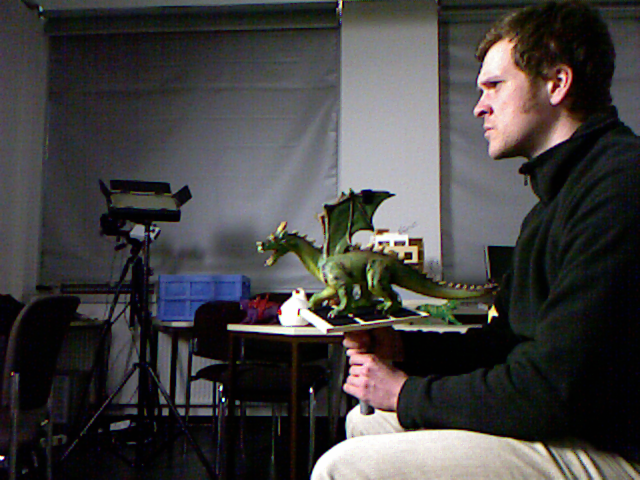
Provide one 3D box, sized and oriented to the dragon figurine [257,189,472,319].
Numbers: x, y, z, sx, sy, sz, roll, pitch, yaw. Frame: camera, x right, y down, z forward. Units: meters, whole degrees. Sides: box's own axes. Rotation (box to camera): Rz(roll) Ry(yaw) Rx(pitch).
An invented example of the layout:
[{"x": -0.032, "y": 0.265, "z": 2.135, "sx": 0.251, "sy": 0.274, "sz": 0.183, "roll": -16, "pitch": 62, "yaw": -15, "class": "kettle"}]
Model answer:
[{"x": 0.085, "y": 0.020, "z": 1.016, "sx": 0.411, "sy": 0.242, "sz": 0.123, "roll": -6, "pitch": 4, "yaw": -3, "class": "dragon figurine"}]
